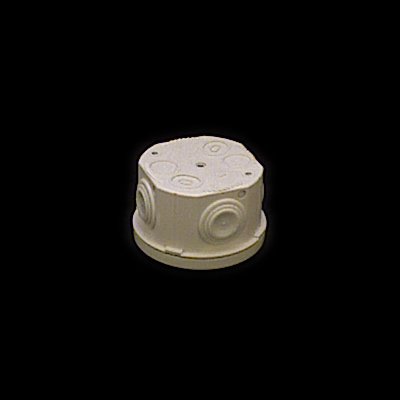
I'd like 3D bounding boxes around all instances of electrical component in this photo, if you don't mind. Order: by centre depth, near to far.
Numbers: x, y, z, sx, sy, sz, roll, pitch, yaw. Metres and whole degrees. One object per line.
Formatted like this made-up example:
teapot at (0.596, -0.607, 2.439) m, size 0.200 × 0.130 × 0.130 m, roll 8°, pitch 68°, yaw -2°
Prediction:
electrical component at (0.000, 0.000, 0.637) m, size 0.080 × 0.051 × 0.079 m, roll 1°, pitch 31°, yaw -1°
